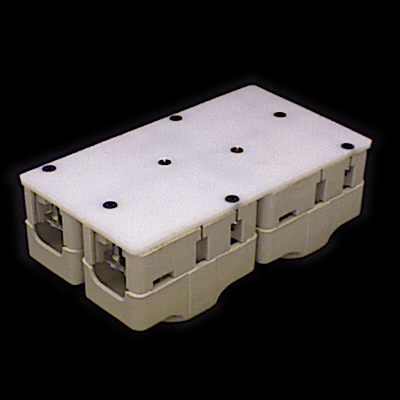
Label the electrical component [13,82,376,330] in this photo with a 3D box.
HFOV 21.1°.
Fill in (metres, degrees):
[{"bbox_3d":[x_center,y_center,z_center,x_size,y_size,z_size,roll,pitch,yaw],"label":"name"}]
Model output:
[{"bbox_3d":[0.000,0.000,0.633,0.185,0.061,0.104,-25,39,-36],"label":"electrical component"}]
